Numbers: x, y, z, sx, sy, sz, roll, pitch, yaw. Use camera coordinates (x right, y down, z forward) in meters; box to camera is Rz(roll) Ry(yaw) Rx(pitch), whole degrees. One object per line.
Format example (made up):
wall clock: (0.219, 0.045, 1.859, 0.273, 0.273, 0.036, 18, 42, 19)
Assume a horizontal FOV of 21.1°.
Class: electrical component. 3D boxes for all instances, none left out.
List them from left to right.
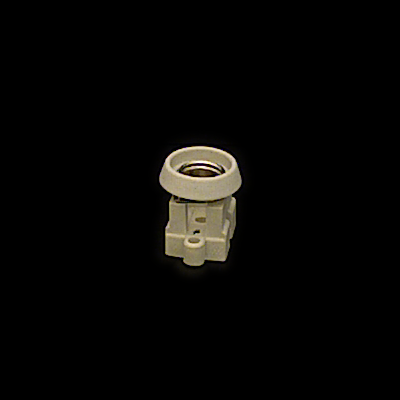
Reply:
electrical component: (0.000, 0.000, 0.644, 0.048, 0.056, 0.066, 7, 33, 6)
